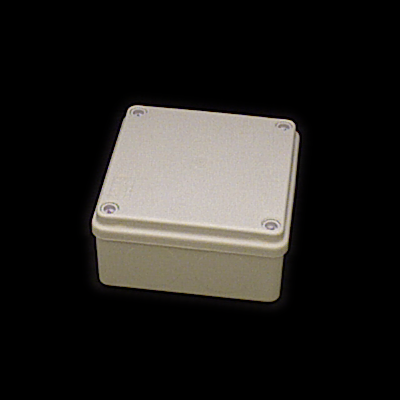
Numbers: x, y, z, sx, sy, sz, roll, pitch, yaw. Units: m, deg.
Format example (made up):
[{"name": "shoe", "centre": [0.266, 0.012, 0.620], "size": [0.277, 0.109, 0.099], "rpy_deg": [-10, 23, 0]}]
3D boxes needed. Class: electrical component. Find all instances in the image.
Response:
[{"name": "electrical component", "centre": [0.000, 0.000, 0.633], "size": [0.109, 0.057, 0.108], "rpy_deg": [6, 42, 5]}]
